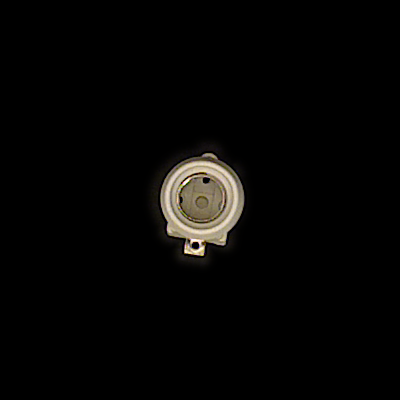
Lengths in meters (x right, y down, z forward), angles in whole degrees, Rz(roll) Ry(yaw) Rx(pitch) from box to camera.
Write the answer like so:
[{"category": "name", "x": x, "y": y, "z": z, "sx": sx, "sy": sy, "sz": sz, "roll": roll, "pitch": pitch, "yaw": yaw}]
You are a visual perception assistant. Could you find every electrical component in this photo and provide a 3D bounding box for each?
[{"category": "electrical component", "x": 0.000, "y": 0.000, "z": 0.639, "sx": 0.048, "sy": 0.066, "sz": 0.055, "roll": 8, "pitch": -6, "yaw": 4}]
